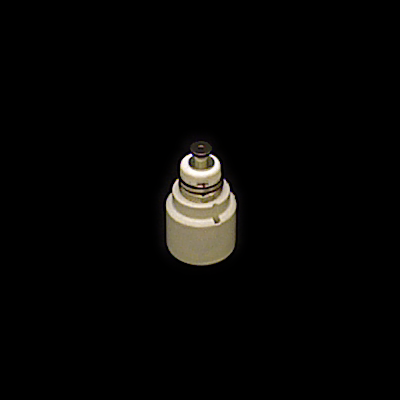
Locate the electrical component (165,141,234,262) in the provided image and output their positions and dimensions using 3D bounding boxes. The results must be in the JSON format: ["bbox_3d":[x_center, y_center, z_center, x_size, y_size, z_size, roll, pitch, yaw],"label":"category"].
[{"bbox_3d":[0.000,0.000,0.623,0.040,0.079,0.039,0,41,0],"label":"electrical component"}]
